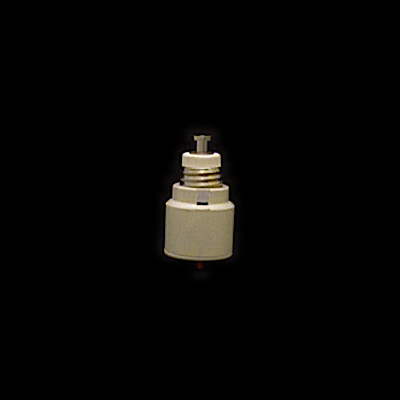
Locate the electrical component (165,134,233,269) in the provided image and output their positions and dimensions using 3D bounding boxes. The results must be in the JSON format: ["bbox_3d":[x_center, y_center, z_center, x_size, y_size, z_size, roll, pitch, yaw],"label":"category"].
[{"bbox_3d":[0.000,0.000,0.642,0.040,0.079,0.040,2,11,0],"label":"electrical component"}]
